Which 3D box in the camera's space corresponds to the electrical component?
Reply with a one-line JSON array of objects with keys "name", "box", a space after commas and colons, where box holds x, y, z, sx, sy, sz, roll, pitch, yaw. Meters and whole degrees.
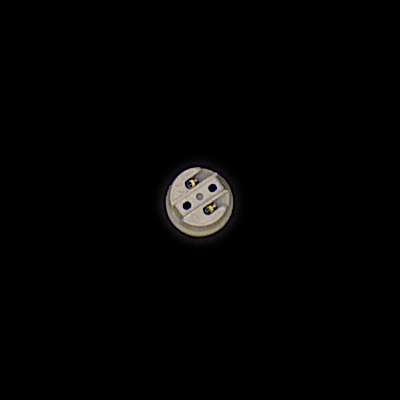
[{"name": "electrical component", "box": [0.000, 0.000, 0.634, 0.040, 0.040, 0.046, 0, -5, 0]}]
